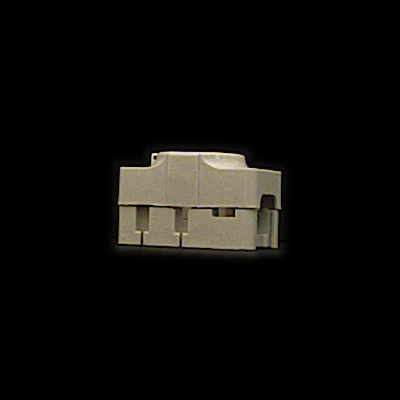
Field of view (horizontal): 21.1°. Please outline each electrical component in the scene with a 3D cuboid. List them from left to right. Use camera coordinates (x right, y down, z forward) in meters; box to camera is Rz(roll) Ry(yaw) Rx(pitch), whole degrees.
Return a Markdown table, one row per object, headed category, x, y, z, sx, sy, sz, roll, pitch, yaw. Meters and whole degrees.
| category | x | y | z | sx | sy | sz | roll | pitch | yaw |
| --- | --- | --- | --- | --- | --- | --- | --- | --- | --- |
| electrical component | 0.000 | 0.000 | 0.657 | 0.089 | 0.056 | 0.050 | 2 | 1 | 24 |
